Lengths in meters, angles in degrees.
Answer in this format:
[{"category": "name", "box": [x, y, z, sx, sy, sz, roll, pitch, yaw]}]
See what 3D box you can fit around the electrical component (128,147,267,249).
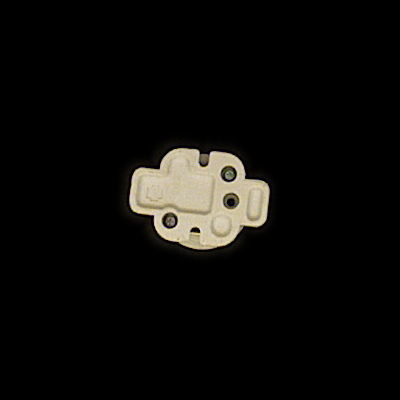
[{"category": "electrical component", "box": [0.000, 0.000, 0.637, 0.078, 0.058, 0.057, 5, -5, 3]}]
